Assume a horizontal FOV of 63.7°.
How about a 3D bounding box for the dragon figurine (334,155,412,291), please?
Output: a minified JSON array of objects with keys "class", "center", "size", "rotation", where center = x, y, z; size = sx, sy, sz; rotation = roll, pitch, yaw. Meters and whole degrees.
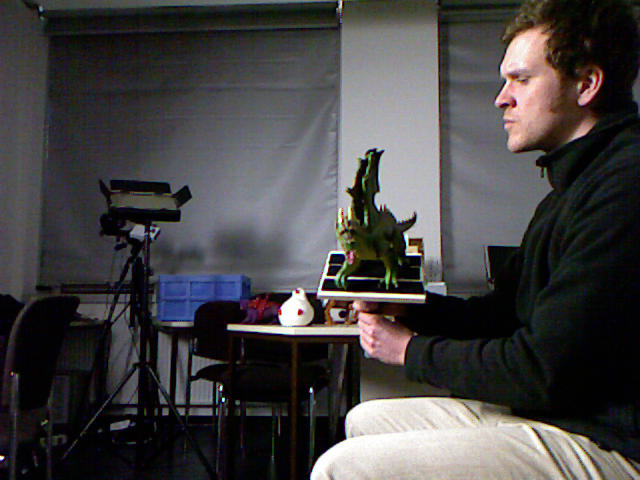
[{"class":"dragon figurine","center":[0.116,-0.049,1.010],"size":[0.123,0.238,0.419],"rotation":[8,30,21]}]
